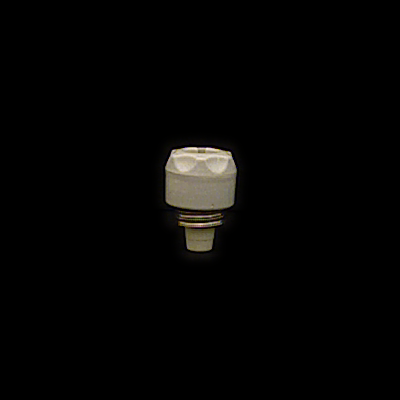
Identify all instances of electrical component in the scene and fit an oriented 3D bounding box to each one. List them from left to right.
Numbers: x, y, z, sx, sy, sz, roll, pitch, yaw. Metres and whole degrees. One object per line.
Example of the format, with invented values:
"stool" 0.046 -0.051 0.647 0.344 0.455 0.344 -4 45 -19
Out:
"electrical component" 0.000 0.000 0.650 0.043 0.062 0.043 1 13 0
